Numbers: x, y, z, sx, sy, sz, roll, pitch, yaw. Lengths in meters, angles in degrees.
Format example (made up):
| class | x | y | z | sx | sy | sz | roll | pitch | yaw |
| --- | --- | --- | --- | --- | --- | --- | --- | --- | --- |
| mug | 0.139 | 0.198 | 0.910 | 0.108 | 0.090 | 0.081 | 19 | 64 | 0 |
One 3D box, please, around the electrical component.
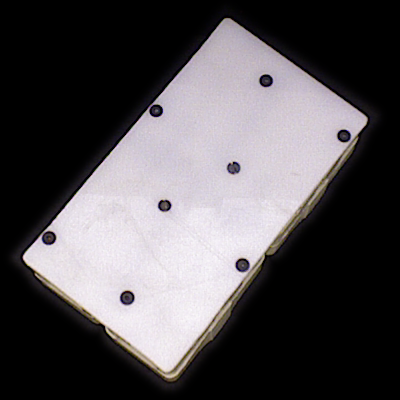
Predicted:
| class | x | y | z | sx | sy | sz | roll | pitch | yaw |
| --- | --- | --- | --- | --- | --- | --- | --- | --- | --- |
| electrical component | 0.000 | 0.000 | 0.625 | 0.105 | 0.187 | 0.060 | 37 | -14 | 10 |
